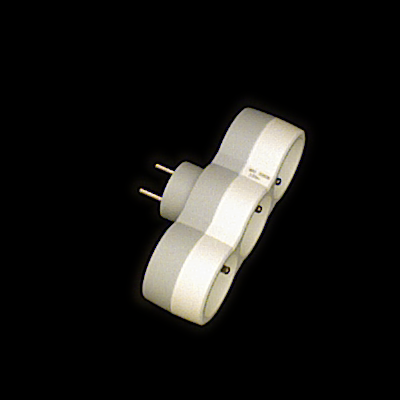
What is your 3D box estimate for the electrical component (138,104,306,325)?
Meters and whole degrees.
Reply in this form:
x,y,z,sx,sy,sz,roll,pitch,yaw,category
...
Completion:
x,y,z,sx,sy,sz,roll,pitch,yaw,category
0.000,0.000,0.639,0.073,0.139,0.052,25,-24,13,electrical component
